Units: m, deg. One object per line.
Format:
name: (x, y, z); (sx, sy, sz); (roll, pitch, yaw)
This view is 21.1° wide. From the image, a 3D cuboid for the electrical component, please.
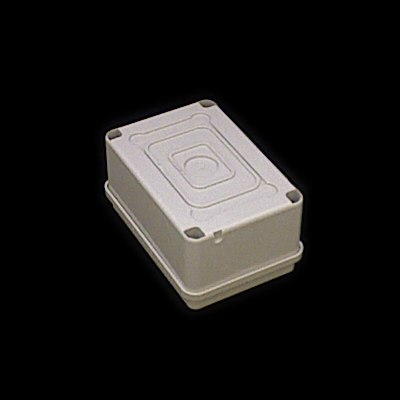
electrical component: (0.000, 0.000, 0.632); (0.078, 0.057, 0.112); (-20, 45, -22)
